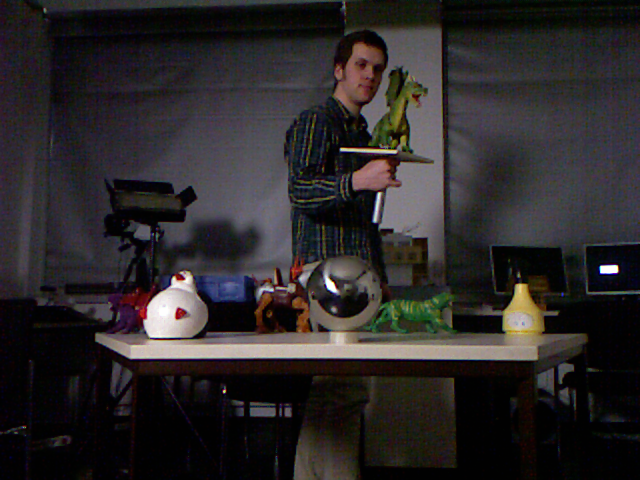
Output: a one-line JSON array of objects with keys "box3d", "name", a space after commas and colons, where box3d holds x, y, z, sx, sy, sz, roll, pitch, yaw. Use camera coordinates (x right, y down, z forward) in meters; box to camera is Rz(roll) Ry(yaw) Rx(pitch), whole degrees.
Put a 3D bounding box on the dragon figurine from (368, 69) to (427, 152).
[{"box3d": [0.213, -0.385, 1.551, 0.122, 0.242, 0.412, 6, 4, -14], "name": "dragon figurine"}]
